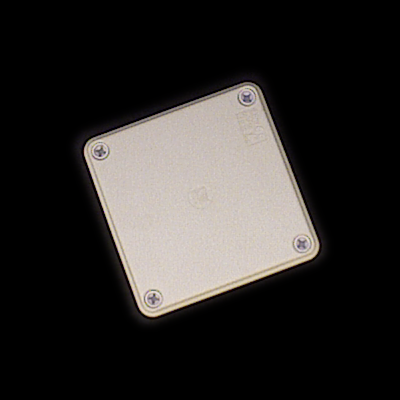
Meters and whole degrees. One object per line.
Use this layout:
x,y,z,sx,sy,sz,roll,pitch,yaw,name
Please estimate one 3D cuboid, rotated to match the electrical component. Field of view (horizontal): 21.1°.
0.000,0.000,0.630,0.109,0.109,0.056,-20,-6,-2,electrical component
